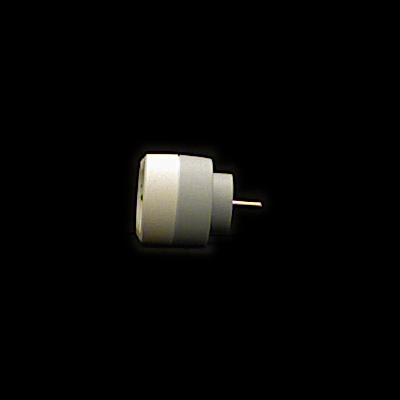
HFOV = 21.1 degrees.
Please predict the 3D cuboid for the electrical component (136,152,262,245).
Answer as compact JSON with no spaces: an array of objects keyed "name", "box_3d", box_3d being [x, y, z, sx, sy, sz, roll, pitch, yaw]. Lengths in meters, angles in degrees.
[{"name":"electrical component","box_3d":[0.000,0.000,0.655,0.074,0.052,0.138,3,0,-5]}]
